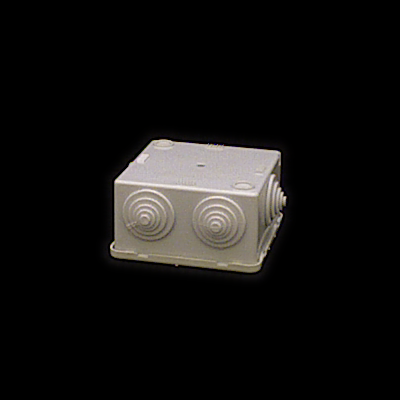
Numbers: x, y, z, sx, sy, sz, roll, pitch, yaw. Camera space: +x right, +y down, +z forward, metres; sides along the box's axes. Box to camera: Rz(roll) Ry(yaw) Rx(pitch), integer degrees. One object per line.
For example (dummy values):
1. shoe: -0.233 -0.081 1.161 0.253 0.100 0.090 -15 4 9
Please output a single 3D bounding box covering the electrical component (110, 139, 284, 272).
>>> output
1. electrical component: 0.000 0.000 0.641 0.099 0.049 0.099 6 22 12
